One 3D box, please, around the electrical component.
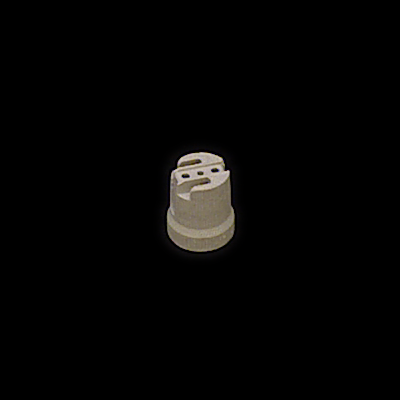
[{"bbox_3d":[0.000,0.000,0.636,0.040,0.046,0.040,1,42,0],"label":"electrical component"}]
